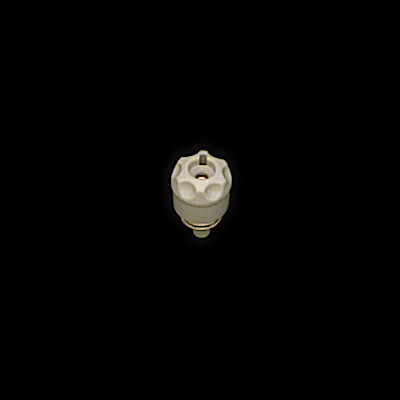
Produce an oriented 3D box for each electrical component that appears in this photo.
[{"bbox_3d":[0.000,0.000,0.636,0.035,0.035,0.062,0,-37,0],"label":"electrical component"}]
